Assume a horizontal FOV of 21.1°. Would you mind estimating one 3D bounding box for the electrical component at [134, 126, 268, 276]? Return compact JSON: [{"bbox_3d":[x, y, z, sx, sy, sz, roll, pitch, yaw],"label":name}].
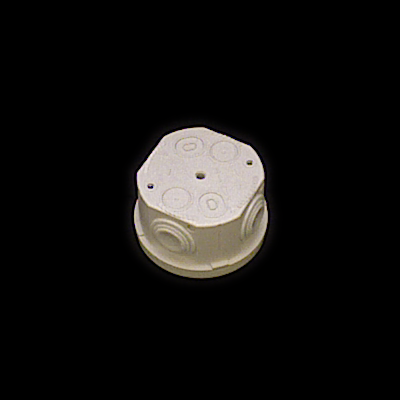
[{"bbox_3d":[0.000,0.000,0.632,0.080,0.080,0.051,0,-37,0],"label":"electrical component"}]
